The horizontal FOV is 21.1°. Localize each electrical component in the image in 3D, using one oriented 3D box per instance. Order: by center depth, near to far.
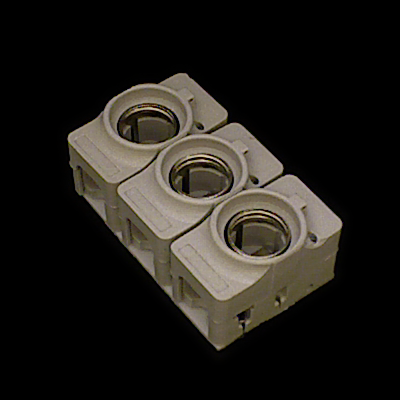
[{"bbox_3d":[0.000,0.000,0.634,0.089,0.148,0.062,-31,-31,-23],"label":"electrical component"}]
